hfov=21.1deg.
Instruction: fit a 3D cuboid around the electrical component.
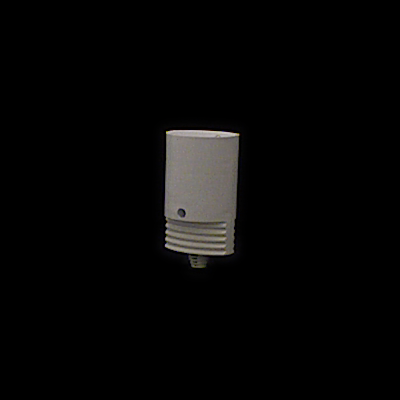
[{"bbox_3d":[0.000,0.000,0.643,0.043,0.082,0.042,1,12,0],"label":"electrical component"}]
